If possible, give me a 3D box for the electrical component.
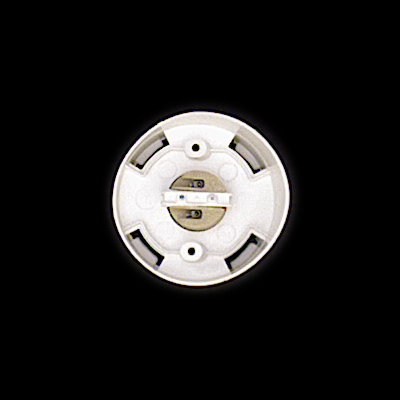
[{"bbox_3d":[0.000,0.000,0.625,0.099,0.099,0.064,0,-7,-1],"label":"electrical component"}]
